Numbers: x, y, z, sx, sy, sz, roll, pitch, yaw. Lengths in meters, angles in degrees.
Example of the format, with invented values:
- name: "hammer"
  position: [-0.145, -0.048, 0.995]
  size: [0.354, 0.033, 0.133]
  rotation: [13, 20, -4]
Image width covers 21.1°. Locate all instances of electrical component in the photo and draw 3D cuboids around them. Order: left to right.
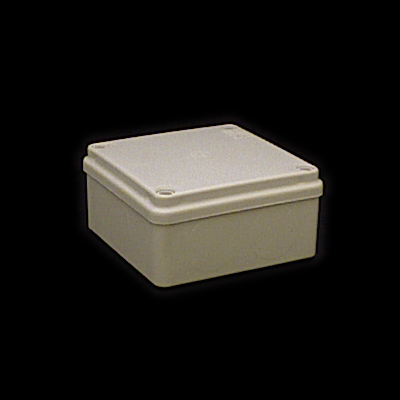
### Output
- name: "electrical component"
  position: [0.000, 0.000, 0.638]
  size: [0.109, 0.057, 0.107]
  rotation: [-10, 24, -26]
